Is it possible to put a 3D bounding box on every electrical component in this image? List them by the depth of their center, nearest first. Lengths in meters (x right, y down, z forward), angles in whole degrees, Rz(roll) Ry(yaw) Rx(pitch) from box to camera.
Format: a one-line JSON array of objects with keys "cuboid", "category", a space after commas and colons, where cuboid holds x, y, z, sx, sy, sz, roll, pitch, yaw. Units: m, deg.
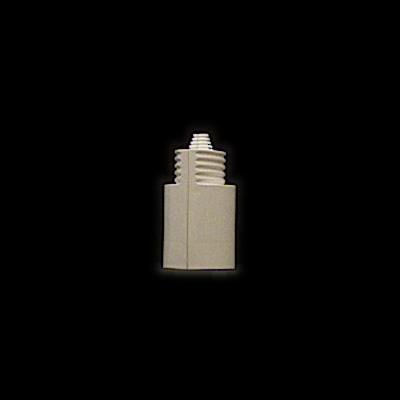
[{"cuboid": [0.000, 0.000, 0.650, 0.043, 0.081, 0.043, 1, 1, 0], "category": "electrical component"}]
